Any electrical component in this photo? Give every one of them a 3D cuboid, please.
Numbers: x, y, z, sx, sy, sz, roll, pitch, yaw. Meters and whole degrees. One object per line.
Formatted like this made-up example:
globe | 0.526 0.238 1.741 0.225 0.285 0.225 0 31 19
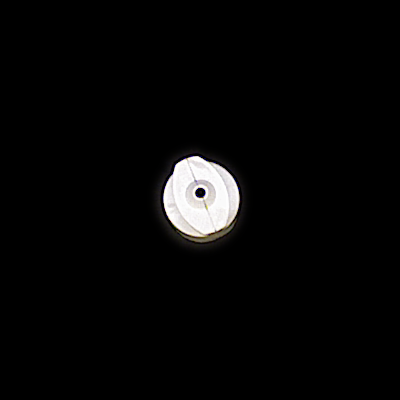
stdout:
electrical component | 0.000 0.000 0.616 0.043 0.043 0.080 0 -6 1
